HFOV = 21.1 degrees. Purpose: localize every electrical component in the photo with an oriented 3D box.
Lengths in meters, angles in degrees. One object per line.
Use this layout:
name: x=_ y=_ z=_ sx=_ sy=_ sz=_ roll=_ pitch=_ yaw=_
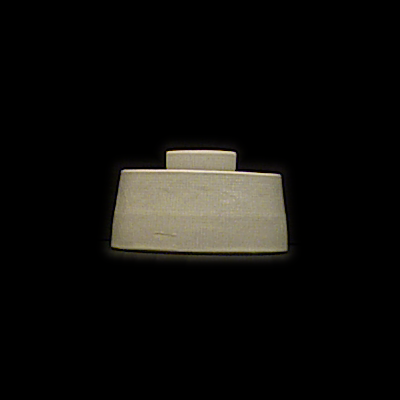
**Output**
electrical component: x=0.000 y=0.000 z=0.658 sx=0.108 sy=0.060 sz=0.108 roll=1 pitch=1 yaw=1
